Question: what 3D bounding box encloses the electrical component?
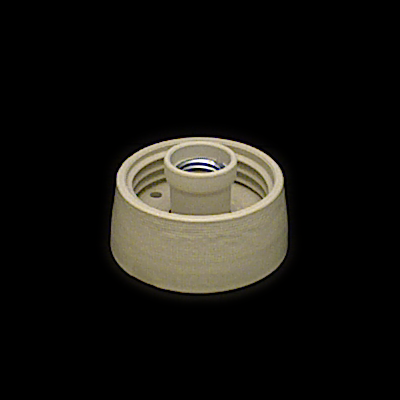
[{"bbox_3d":[0.000,0.000,0.639,0.108,0.061,0.106,1,32,0],"label":"electrical component"}]
